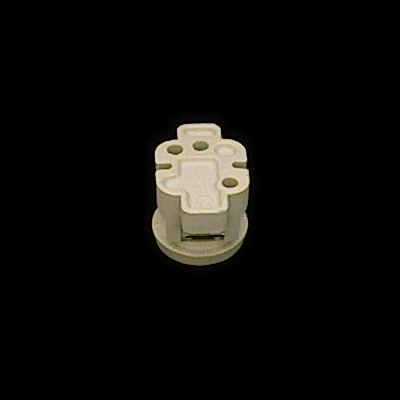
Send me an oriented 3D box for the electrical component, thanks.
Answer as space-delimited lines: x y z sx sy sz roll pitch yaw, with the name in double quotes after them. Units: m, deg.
0.000 0.000 0.638 0.058 0.057 0.078 -2 44 -4 "electrical component"
